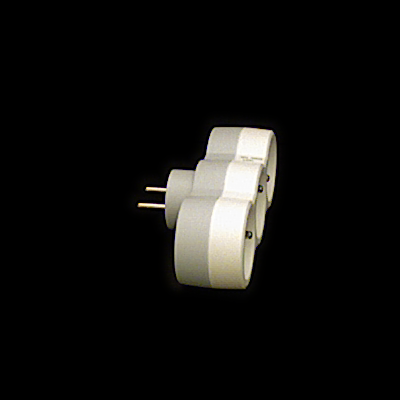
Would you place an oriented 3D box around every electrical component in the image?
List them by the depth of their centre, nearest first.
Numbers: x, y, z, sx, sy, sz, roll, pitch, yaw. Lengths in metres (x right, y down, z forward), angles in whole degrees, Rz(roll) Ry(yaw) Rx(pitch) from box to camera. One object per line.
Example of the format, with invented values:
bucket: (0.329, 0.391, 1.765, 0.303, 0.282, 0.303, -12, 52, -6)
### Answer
electrical component: (0.000, 0.000, 0.645, 0.073, 0.053, 0.137, 5, 32, 10)
